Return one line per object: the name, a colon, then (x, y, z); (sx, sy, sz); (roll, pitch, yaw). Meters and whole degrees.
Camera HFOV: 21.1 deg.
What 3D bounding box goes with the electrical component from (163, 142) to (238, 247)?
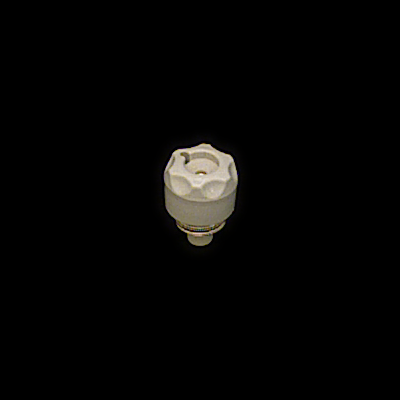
electrical component: (0.000, 0.000, 0.638); (0.043, 0.062, 0.043); (1, 43, 0)
